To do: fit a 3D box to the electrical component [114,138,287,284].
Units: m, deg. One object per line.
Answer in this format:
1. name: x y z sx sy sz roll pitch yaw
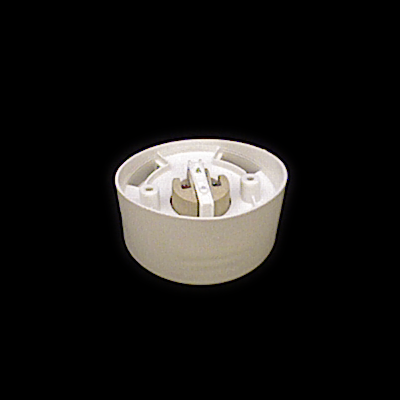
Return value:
1. electrical component: 0.000 0.000 0.628 0.099 0.065 0.098 1 42 -1
